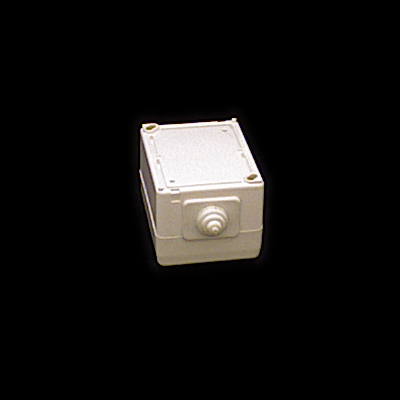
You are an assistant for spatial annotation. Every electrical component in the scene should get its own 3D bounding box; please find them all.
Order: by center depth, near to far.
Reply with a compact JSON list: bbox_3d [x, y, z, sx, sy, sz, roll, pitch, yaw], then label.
[{"bbox_3d":[0.000,0.000,0.633,0.062,0.061,0.095,-5,33,-9],"label":"electrical component"}]
